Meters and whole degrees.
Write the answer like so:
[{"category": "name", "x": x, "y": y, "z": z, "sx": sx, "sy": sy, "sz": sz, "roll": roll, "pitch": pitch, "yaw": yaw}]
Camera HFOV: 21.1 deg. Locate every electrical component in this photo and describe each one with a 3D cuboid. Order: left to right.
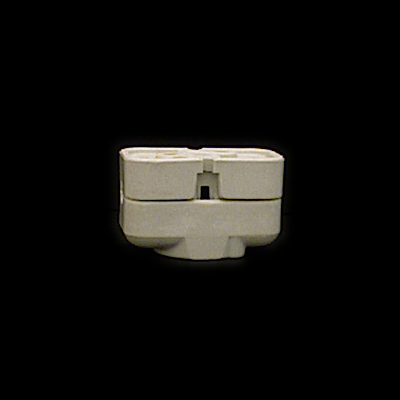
[{"category": "electrical component", "x": 0.000, "y": 0.000, "z": 0.649, "sx": 0.095, "sy": 0.060, "sz": 0.053, "roll": 0, "pitch": 12, "yaw": -10}]
